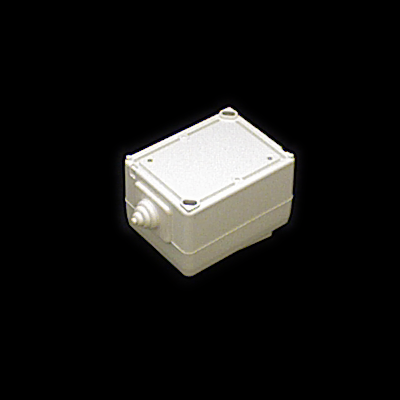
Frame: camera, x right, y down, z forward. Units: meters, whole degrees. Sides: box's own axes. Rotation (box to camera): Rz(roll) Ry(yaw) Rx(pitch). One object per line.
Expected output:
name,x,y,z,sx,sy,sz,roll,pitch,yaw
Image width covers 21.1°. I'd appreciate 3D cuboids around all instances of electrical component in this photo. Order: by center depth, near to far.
electrical component,0.000,0.000,0.625,0.096,0.061,0.061,-28,49,-29
